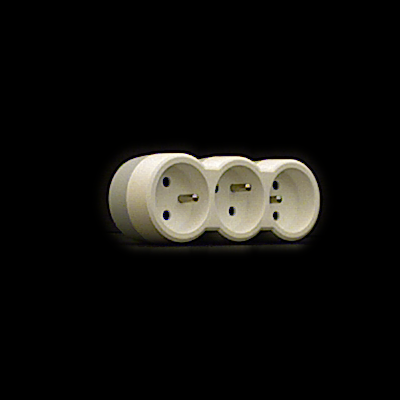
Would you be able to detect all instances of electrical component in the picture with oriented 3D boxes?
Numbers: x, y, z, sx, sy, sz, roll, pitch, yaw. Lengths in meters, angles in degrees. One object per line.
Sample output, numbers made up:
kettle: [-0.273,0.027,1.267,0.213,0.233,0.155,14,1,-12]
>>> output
electrical component: [0.000,0.000,0.660,0.140,0.052,0.073,1,0,-40]
